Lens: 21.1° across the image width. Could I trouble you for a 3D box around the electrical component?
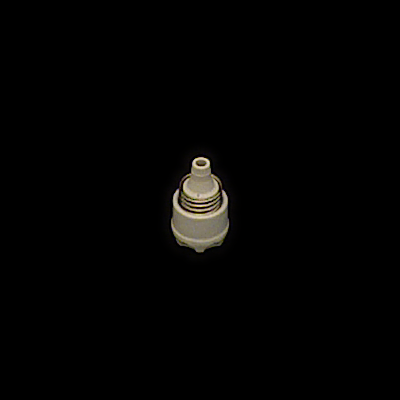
[{"bbox_3d":[0.000,0.000,0.644,0.035,0.062,0.034,1,44,0],"label":"electrical component"}]
